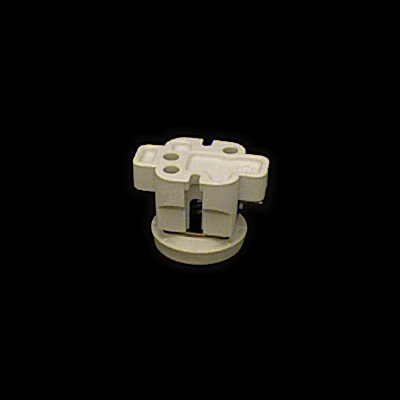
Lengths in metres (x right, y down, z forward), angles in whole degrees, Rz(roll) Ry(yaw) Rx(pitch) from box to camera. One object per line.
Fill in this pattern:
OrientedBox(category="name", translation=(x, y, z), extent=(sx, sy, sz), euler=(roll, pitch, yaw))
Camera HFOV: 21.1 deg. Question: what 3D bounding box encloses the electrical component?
OrientedBox(category="electrical component", translation=(0.000, 0.000, 0.643), extent=(0.078, 0.057, 0.057), euler=(6, 32, 5))
